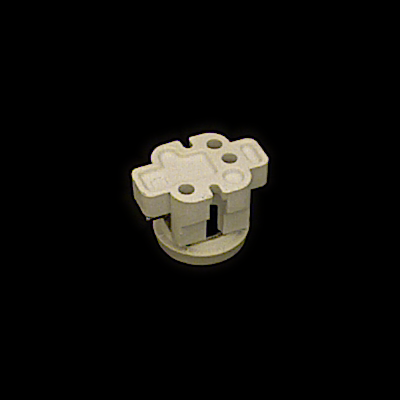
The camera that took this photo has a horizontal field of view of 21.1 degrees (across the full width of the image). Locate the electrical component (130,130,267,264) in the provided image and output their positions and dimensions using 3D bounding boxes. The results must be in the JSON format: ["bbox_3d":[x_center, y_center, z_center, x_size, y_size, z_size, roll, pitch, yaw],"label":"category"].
[{"bbox_3d":[0.000,0.000,0.637,0.079,0.057,0.057,-18,46,-17],"label":"electrical component"}]
